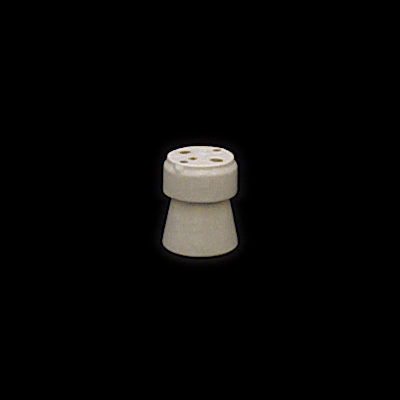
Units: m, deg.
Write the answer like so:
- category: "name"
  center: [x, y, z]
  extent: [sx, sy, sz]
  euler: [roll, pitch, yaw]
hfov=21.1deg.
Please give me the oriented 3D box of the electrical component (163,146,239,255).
- category: "electrical component"
  center: [0.000, 0.000, 0.640]
  extent: [0.045, 0.056, 0.044]
  euler: [1, 21, 0]
